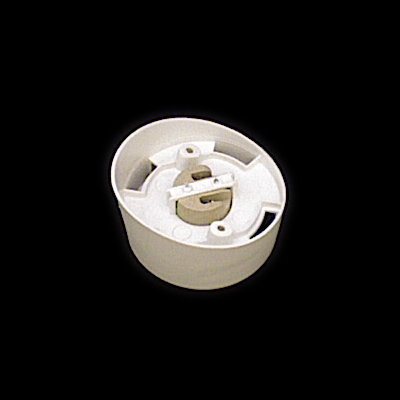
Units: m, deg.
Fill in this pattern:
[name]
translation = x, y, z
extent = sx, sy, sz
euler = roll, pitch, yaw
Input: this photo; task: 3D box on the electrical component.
[electrical component]
translation = 0.000, 0.000, 0.625
extent = 0.099, 0.098, 0.064
euler = 0, -37, 0
